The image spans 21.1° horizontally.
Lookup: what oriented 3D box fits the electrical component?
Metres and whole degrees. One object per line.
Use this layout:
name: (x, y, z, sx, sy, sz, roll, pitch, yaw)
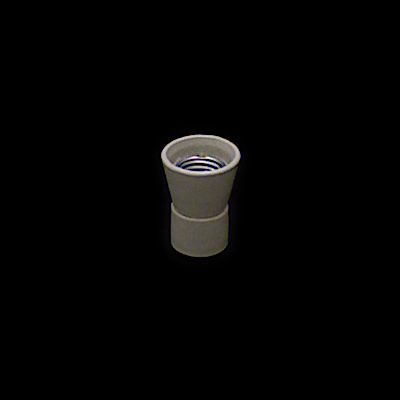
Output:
electrical component: (0.000, 0.000, 0.631, 0.044, 0.066, 0.044, 1, 32, 0)
